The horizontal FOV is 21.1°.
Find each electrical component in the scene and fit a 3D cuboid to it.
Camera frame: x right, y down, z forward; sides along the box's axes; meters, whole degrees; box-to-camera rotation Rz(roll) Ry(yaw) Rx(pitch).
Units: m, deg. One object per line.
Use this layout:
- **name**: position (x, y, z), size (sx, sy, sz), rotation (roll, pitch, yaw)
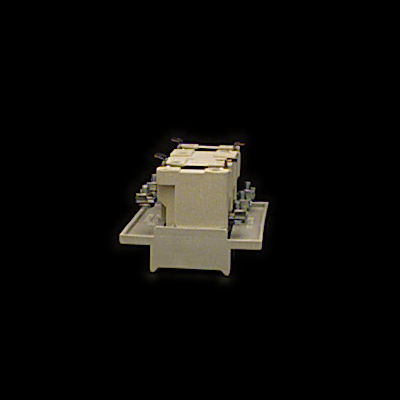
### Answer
- **electrical component**: position (0.000, 0.000, 0.652), size (0.078, 0.063, 0.120), rotation (3, 11, 4)
